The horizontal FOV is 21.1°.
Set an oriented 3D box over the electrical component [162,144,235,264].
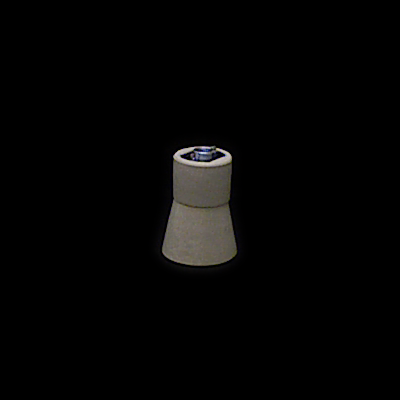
[{"bbox_3d":[0.000,0.000,0.636,0.044,0.066,0.044,2,22,-1],"label":"electrical component"}]
